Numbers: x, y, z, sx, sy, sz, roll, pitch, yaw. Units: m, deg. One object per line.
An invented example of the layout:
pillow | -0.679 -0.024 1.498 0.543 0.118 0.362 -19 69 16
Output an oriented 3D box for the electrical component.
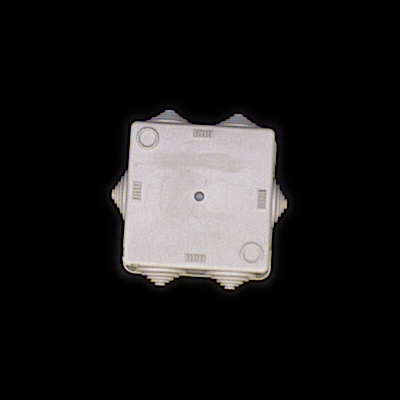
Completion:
electrical component | 0.000 0.000 0.632 0.100 0.100 0.048 3 -7 0
